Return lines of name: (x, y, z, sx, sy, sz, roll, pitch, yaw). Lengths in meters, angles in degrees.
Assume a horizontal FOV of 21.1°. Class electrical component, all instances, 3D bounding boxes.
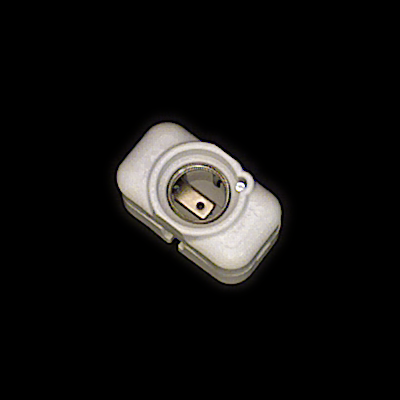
electrical component: (0.000, 0.000, 0.634, 0.095, 0.054, 0.059, 36, -12, 9)
